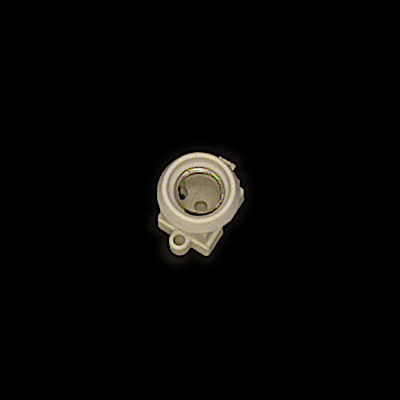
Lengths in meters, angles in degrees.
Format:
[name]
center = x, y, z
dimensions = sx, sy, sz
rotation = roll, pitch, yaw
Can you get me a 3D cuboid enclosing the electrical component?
[electrical component]
center = 0.000, 0.000, 0.637
dimensions = 0.048, 0.067, 0.055
rotation = 30, -14, 6
